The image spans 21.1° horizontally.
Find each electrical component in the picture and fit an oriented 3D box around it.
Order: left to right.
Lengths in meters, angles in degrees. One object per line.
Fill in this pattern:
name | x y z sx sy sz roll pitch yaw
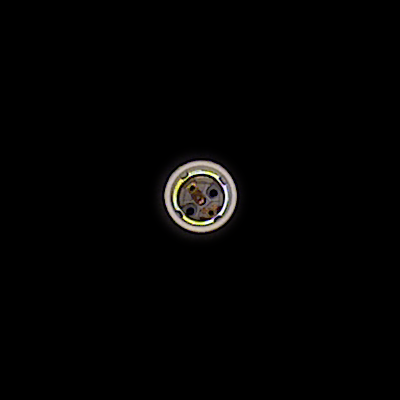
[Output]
electrical component | 0.000 0.000 0.627 0.040 0.040 0.046 0 -6 0
